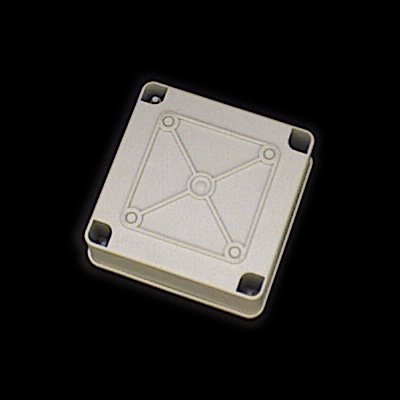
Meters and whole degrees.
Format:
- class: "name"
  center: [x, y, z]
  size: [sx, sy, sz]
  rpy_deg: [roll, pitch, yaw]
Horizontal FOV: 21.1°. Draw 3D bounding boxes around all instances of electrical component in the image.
- class: "electrical component"
  center: [0.000, 0.000, 0.628]
  size: [0.108, 0.109, 0.056]
  rpy_deg: [18, -17, 6]
